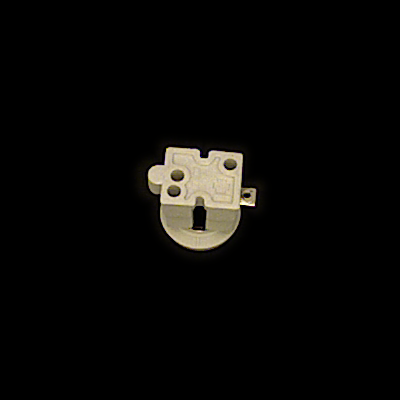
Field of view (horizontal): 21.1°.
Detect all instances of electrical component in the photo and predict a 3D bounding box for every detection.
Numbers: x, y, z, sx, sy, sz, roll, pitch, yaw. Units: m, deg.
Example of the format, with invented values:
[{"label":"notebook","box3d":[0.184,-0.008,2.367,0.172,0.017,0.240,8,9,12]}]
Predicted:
[{"label":"electrical component","box3d":[0.000,0.000,0.637,0.066,0.048,0.055,5,-28,1]}]
